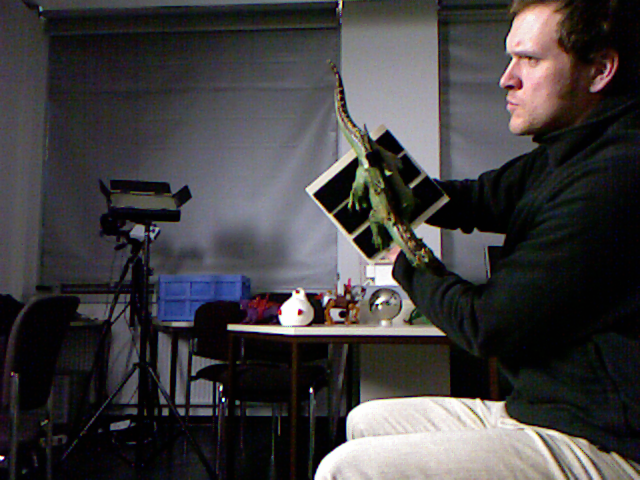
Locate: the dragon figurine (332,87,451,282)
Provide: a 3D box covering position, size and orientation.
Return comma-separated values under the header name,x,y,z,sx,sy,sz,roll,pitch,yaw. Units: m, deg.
name,x,y,z,sx,sy,sz,roll,pitch,yaw
dragon figurine,0.109,-0.109,0.899,0.123,0.413,0.244,-28,-1,0
